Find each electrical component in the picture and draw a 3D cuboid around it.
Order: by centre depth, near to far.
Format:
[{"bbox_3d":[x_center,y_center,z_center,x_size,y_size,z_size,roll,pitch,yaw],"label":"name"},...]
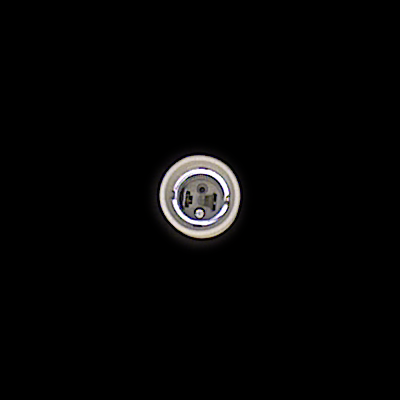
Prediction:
[{"bbox_3d":[0.000,0.000,0.629,0.045,0.045,0.055,0,-6,1],"label":"electrical component"}]
